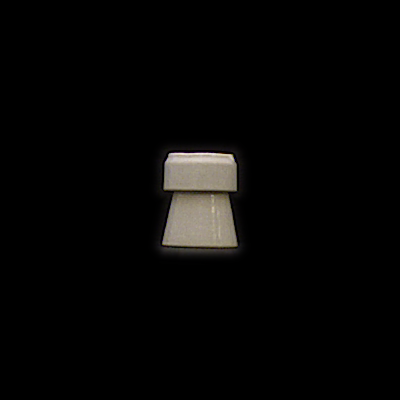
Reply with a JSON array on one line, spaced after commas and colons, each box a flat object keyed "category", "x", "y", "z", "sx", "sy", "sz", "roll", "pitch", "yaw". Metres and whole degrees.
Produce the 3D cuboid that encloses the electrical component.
[{"category": "electrical component", "x": 0.000, "y": 0.000, "z": 0.648, "sx": 0.045, "sy": 0.055, "sz": 0.045, "roll": 1, "pitch": 1, "yaw": 0}]
